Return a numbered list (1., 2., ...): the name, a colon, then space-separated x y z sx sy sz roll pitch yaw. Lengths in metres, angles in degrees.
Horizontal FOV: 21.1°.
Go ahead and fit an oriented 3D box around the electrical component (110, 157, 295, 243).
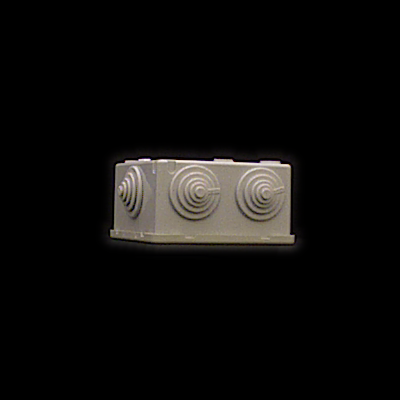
1. electrical component: 0.000 0.000 0.648 0.100 0.048 0.099 1 0 -22
